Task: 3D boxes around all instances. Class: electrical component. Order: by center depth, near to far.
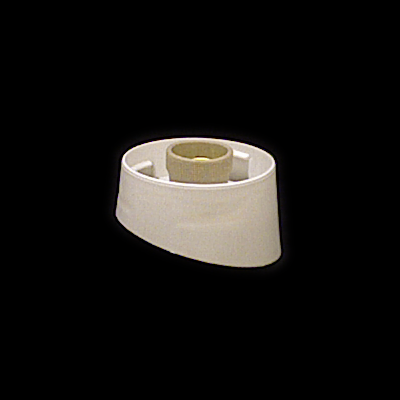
[{"bbox_3d":[0.000,0.000,0.637,0.099,0.065,0.097,1,21,0],"label":"electrical component"}]
